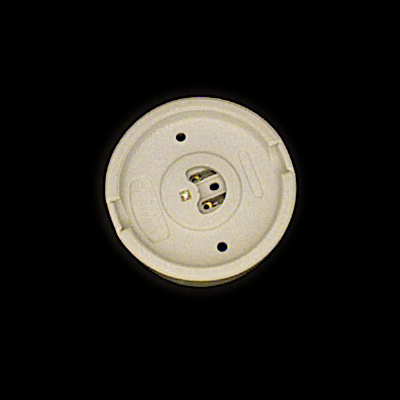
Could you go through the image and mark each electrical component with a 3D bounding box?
[{"bbox_3d":[0.000,0.000,0.633,0.108,0.108,0.060,0,-16,0],"label":"electrical component"}]
